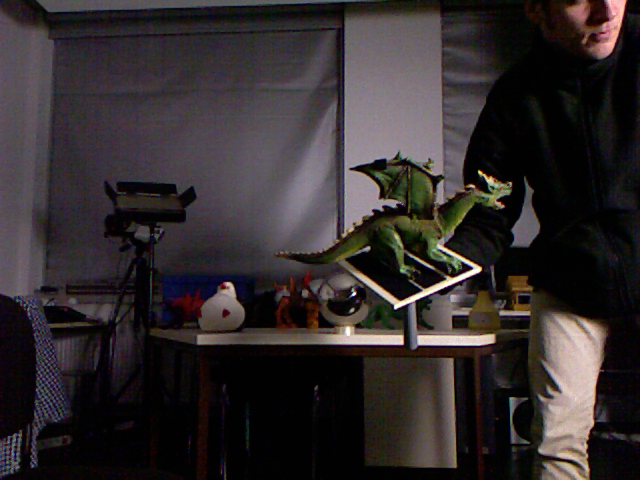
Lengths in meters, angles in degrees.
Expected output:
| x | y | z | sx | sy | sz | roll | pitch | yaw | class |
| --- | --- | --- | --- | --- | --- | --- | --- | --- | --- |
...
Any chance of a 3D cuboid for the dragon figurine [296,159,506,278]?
| x | y | z | sx | sy | sz | roll | pitch | yaw | class |
| --- | --- | --- | --- | --- | --- | --- | --- | --- | --- |
| 0.141 | -0.049 | 0.970 | 0.410 | 0.237 | 0.125 | -5 | 34 | 5 | dragon figurine |
